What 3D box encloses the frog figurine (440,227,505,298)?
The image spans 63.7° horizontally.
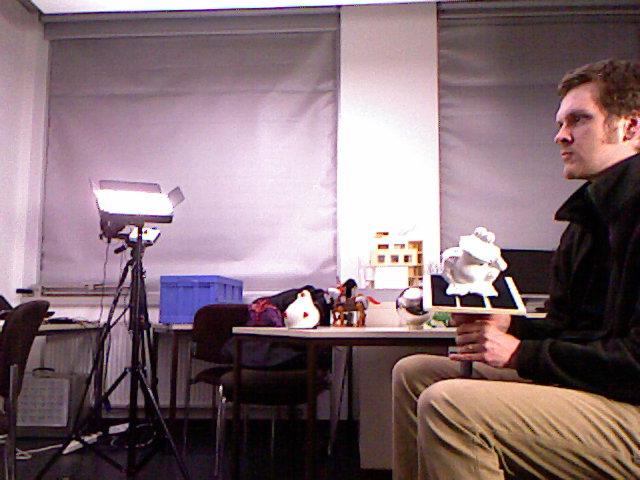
[{"bbox_3d":[0.341,0.042,1.150,0.138,0.157,0.124,9,20,27],"label":"frog figurine"}]
